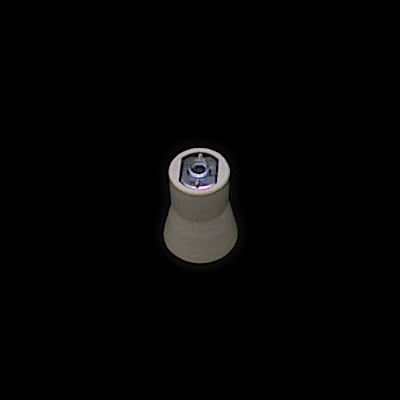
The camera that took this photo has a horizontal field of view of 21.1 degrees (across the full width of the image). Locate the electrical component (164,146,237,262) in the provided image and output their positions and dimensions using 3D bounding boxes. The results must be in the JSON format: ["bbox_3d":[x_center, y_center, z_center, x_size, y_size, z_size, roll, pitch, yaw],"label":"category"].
[{"bbox_3d":[0.000,0.000,0.627,0.044,0.044,0.065,0,-38,1],"label":"electrical component"}]
